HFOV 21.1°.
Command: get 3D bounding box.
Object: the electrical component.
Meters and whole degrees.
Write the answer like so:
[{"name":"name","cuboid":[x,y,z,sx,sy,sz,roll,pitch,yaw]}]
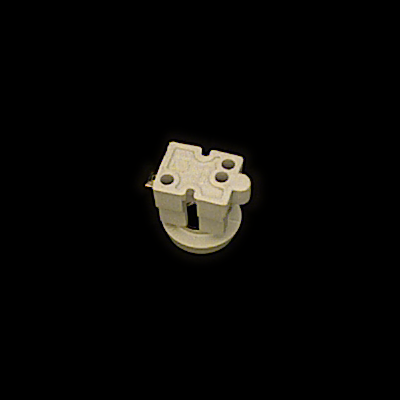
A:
[{"name":"electrical component","cuboid":[0.000,0.000,0.639,0.066,0.048,0.056,13,-35,10]}]
